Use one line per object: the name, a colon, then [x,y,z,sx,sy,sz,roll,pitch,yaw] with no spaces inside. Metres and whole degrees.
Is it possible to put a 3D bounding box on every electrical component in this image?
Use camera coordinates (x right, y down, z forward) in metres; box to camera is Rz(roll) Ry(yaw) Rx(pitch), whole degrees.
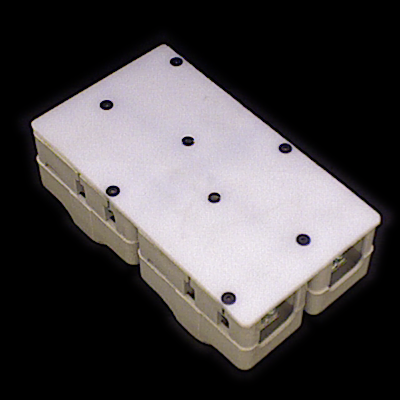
electrical component: [0.000,0.000,0.627,0.105,0.060,0.185,-35,60,-25]
